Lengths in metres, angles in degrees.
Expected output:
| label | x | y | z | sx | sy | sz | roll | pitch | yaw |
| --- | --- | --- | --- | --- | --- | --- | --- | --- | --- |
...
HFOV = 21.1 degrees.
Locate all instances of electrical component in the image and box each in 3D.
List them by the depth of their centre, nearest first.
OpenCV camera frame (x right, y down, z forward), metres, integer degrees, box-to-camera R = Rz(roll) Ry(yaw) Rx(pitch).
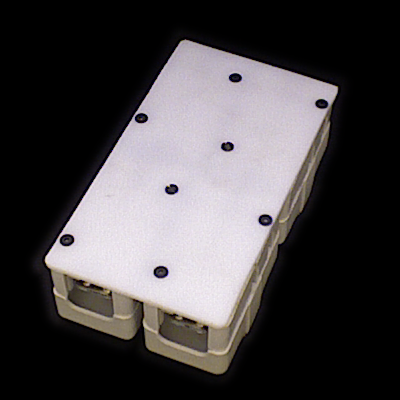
| label | x | y | z | sx | sy | sz | roll | pitch | yaw |
| --- | --- | --- | --- | --- | --- | --- | --- | --- | --- |
| electrical component | 0.000 | 0.000 | 0.627 | 0.105 | 0.186 | 0.060 | 19 | -36 | 14 |
